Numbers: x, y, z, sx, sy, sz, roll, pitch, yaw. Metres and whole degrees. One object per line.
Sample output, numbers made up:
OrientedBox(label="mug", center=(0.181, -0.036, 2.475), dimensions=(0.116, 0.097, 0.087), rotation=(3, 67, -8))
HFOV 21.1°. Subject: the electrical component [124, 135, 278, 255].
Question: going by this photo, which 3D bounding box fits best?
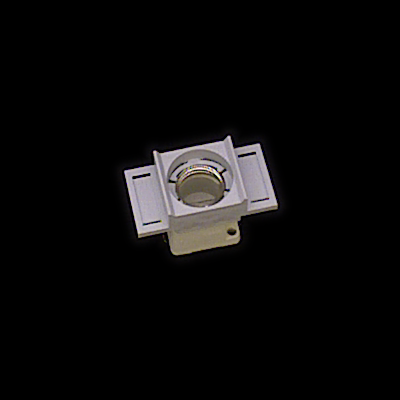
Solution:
OrientedBox(label="electrical component", center=(0.000, 0.000, 0.625), dimensions=(0.081, 0.042, 0.063), rotation=(-11, -28, -6))
